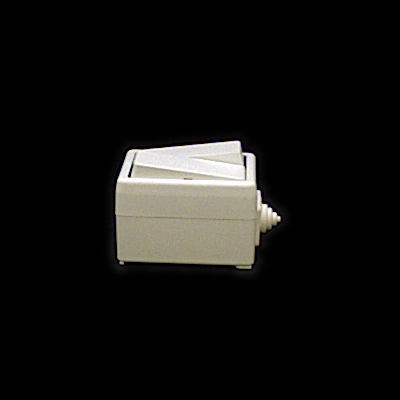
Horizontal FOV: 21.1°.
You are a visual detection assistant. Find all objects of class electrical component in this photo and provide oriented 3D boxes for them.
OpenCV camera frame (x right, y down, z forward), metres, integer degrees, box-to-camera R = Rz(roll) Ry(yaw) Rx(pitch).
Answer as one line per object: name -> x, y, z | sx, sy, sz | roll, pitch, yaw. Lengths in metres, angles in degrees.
electrical component -> 0.000, 0.000, 0.639 | 0.096, 0.061, 0.061 | 2, 21, 2
